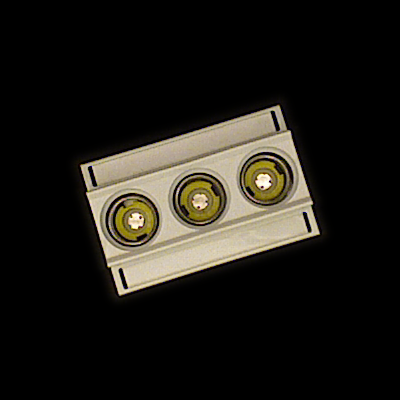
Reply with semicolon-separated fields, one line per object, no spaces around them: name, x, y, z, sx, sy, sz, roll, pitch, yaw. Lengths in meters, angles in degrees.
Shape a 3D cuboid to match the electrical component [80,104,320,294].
electrical component;0.000;0.000;0.637;0.121;0.079;0.063;-17;-4;-1
